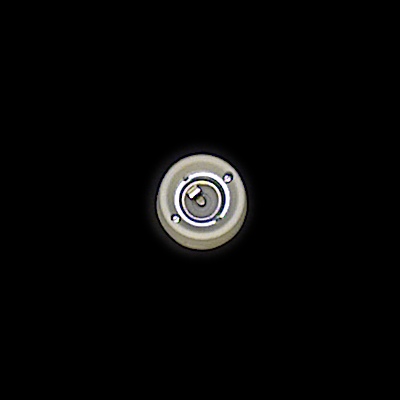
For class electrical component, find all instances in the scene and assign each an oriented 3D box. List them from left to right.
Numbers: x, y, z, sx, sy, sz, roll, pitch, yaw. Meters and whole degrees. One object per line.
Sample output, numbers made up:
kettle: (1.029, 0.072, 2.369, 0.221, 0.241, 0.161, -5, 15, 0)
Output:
electrical component: (0.000, 0.000, 0.634, 0.055, 0.055, 0.047, 0, -7, -1)
